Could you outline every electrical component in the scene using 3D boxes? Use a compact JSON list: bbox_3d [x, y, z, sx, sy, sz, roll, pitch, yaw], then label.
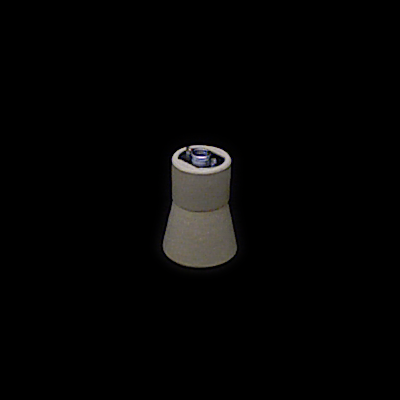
[{"bbox_3d":[0.000,0.000,0.634,0.044,0.066,0.044,1,31,-1],"label":"electrical component"}]
